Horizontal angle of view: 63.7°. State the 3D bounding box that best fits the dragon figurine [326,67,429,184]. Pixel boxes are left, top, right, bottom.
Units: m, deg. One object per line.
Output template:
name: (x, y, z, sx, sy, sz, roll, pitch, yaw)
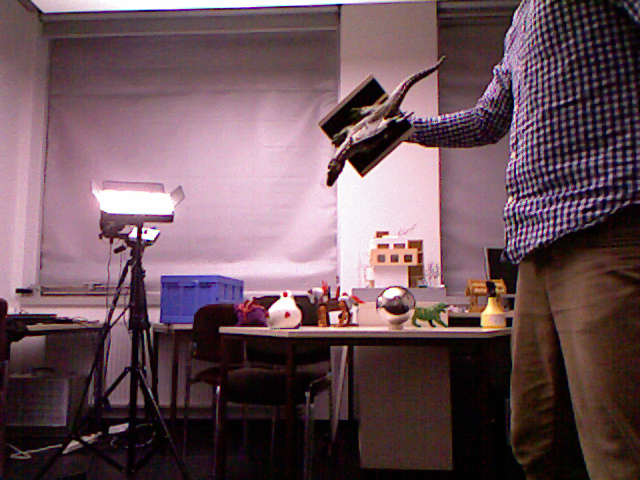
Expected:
dragon figurine: (0.155, -0.308, 1.360, 0.121, 0.409, 0.248, 43, 11, -21)
